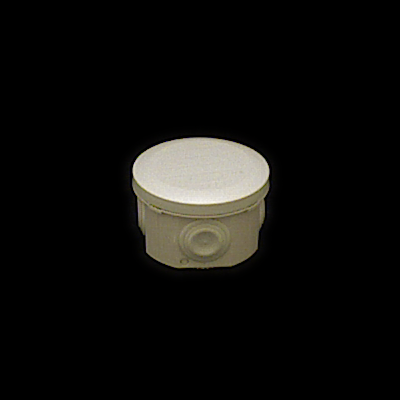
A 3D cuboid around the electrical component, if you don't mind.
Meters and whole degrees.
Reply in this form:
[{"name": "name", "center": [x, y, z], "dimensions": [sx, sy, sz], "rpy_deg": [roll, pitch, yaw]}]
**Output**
[{"name": "electrical component", "center": [0.000, 0.000, 0.635], "dimensions": [0.080, 0.051, 0.079], "rpy_deg": [1, 31, 0]}]
